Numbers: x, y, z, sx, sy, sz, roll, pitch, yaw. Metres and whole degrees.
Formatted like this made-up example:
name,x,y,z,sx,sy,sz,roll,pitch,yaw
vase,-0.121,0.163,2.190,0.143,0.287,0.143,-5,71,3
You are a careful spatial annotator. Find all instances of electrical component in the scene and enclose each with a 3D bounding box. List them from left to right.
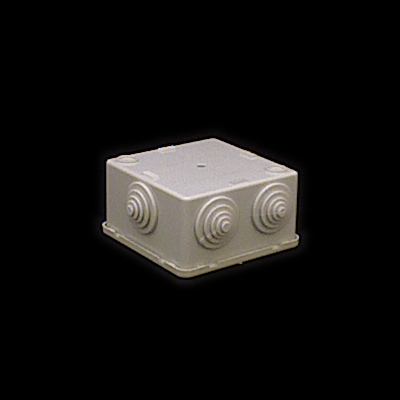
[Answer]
name,x,y,z,sx,sy,sz,roll,pitch,yaw
electrical component,0.000,0.000,0.642,0.099,0.049,0.098,-14,26,-34
